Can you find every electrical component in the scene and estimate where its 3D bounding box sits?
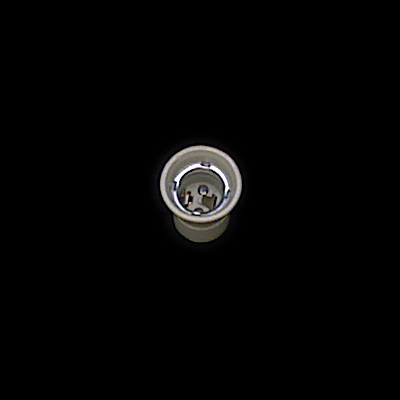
[{"bbox_3d":[0.000,0.000,0.625,0.044,0.044,0.065,0,-18,1],"label":"electrical component"}]
